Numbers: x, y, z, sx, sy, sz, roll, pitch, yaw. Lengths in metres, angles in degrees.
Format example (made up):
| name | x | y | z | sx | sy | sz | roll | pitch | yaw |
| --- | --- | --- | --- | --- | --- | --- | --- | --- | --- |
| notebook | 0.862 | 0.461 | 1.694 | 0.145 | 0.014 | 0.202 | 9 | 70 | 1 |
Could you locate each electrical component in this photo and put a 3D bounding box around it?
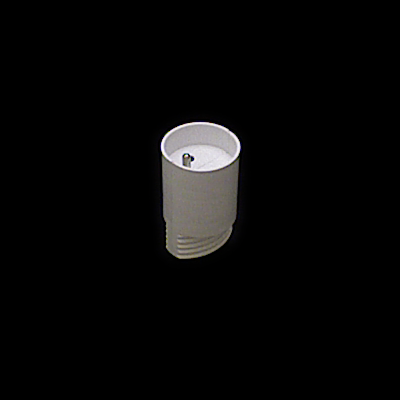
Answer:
| name | x | y | z | sx | sy | sz | roll | pitch | yaw |
| --- | --- | --- | --- | --- | --- | --- | --- | --- | --- |
| electrical component | 0.000 | 0.000 | 0.620 | 0.043 | 0.082 | 0.042 | 0 | 42 | 0 |
